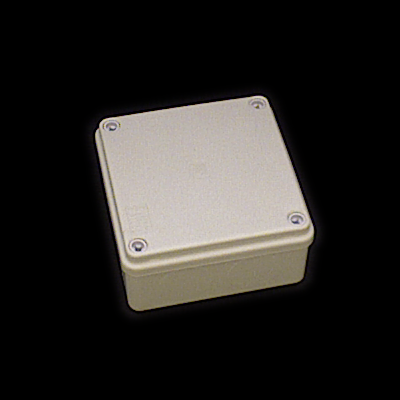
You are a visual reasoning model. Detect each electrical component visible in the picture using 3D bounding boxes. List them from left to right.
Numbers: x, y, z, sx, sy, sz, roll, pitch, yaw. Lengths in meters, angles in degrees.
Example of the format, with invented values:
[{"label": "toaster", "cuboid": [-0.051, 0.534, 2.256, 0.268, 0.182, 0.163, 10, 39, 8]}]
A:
[{"label": "electrical component", "cuboid": [0.000, 0.000, 0.631, 0.109, 0.108, 0.056, -9, -37, -8]}]
